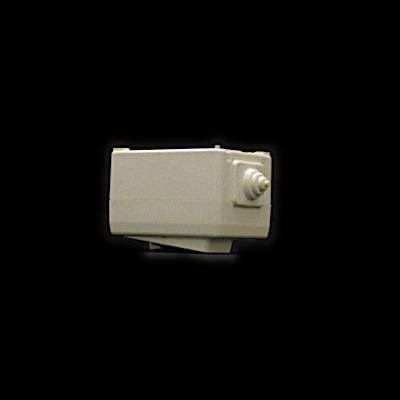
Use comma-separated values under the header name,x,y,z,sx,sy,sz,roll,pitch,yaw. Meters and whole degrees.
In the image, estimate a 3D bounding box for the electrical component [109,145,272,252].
name,x,y,z,sx,sy,sz,roll,pitch,yaw
electrical component,0.000,0.000,0.647,0.096,0.061,0.061,1,-1,35
